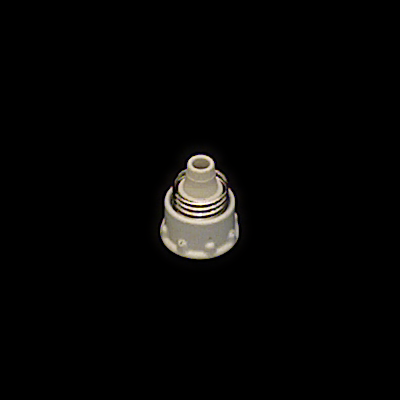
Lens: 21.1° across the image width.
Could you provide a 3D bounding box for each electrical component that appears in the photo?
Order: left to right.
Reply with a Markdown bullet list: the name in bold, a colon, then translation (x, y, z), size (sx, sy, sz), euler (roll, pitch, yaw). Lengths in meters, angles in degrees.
- **electrical component**: translation (0.000, 0.000, 0.637), size (0.048, 0.062, 0.047), euler (1, 44, 0)
